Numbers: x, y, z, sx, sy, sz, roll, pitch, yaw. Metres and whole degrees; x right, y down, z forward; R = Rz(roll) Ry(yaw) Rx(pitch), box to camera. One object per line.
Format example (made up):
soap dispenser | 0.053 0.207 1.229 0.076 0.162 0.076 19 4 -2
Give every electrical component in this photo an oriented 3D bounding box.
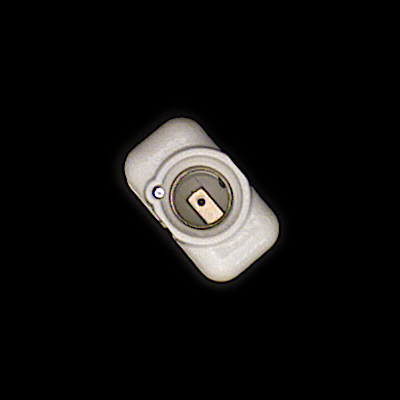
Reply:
electrical component | 0.000 0.000 0.635 0.054 0.095 0.059 -41 -5 -3
